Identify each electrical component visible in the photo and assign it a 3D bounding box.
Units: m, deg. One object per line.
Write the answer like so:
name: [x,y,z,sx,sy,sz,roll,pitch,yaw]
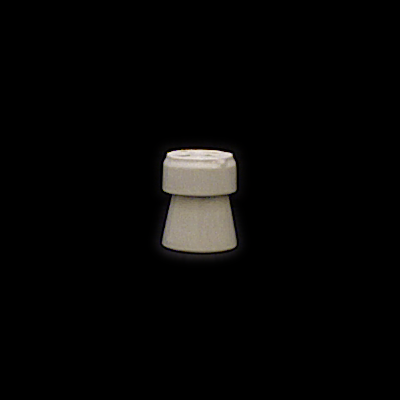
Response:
electrical component: [0.000,0.000,0.644,0.045,0.055,0.044,1,11,0]
